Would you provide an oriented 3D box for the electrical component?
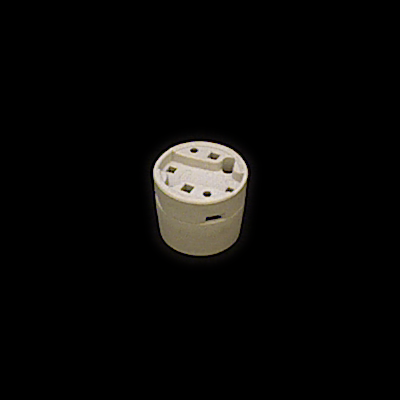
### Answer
[{"bbox_3d":[0.000,0.000,0.636,0.055,0.047,0.055,0,42,0],"label":"electrical component"}]
